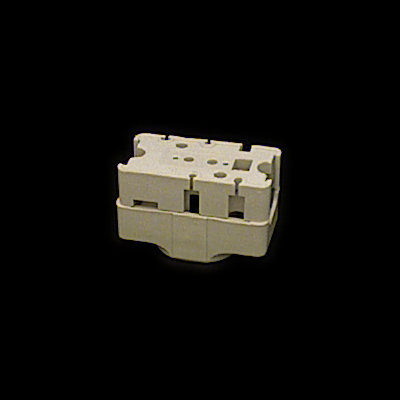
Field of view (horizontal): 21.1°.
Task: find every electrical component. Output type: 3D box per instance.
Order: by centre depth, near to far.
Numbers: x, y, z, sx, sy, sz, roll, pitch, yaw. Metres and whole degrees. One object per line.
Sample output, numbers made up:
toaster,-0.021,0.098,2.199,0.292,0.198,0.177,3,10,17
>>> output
electrical component,0.000,0.000,0.643,0.089,0.056,0.050,8,32,9
